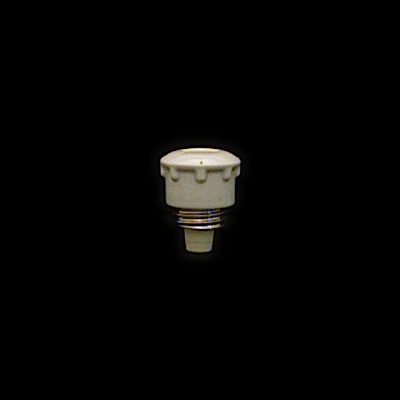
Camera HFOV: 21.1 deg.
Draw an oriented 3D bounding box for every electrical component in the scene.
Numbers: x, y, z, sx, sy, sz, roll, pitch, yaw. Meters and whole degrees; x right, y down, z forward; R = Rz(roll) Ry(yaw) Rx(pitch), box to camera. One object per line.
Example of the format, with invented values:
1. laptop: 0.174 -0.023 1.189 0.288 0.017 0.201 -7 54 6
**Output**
1. electrical component: 0.000 0.000 0.649 0.048 0.062 0.048 1 11 0
